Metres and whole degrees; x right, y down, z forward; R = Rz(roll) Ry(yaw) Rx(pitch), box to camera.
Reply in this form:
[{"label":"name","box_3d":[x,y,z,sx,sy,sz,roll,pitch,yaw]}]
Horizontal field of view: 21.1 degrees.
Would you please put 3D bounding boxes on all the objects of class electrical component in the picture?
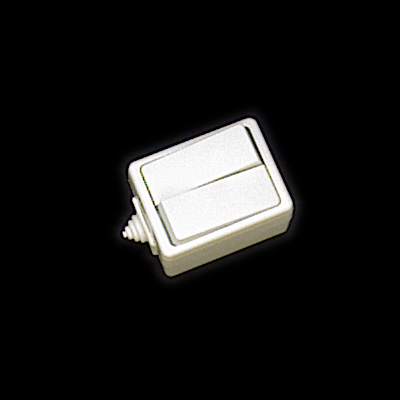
[{"label":"electrical component","box_3d":[0.000,0.000,0.626,0.096,0.062,0.060,-21,-16,-7]}]
